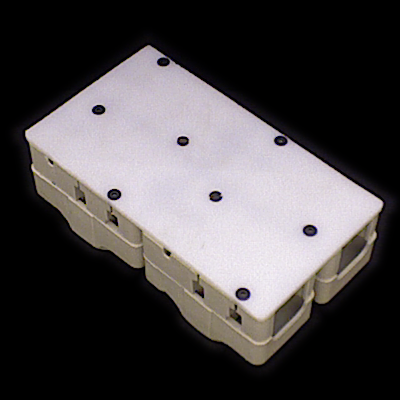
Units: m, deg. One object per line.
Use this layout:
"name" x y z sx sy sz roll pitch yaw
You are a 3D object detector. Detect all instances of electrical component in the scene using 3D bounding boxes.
"electrical component" 0.000 0.000 0.627 0.185 0.060 0.105 36 60 24
